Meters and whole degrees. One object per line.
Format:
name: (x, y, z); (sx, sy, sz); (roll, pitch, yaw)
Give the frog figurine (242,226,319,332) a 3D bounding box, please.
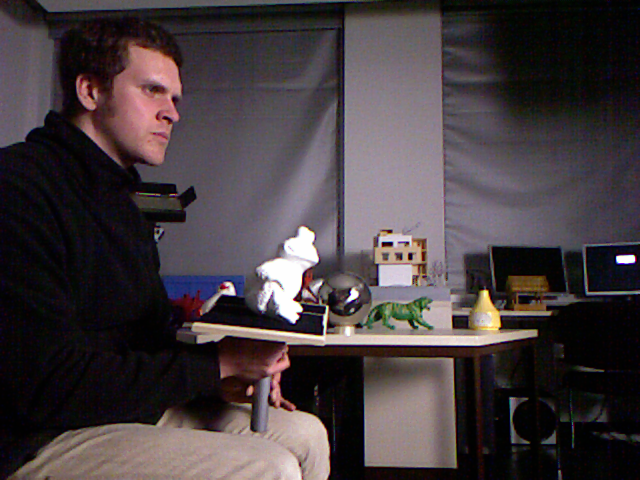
frog figurine: (-0.066, 0.054, 0.864); (0.123, 0.159, 0.138); (9, 9, 25)
